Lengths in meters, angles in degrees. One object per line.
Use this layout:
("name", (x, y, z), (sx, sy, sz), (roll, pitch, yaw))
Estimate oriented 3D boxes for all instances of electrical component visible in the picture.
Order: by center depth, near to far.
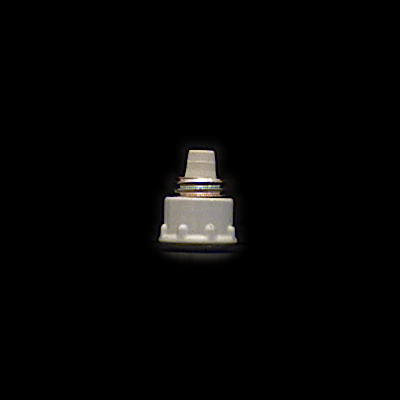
("electrical component", (0.000, 0.000, 0.657), (0.048, 0.062, 0.048), (2, 2, 0))
